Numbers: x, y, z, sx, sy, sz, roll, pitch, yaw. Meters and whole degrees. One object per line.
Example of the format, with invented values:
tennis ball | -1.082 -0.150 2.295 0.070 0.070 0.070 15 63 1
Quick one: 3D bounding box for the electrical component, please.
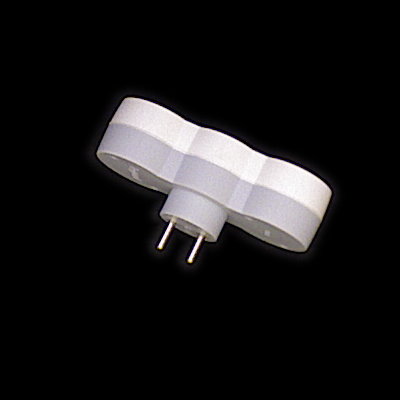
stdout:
electrical component | 0.000 0.000 0.630 0.138 0.074 0.052 24 -13 6
